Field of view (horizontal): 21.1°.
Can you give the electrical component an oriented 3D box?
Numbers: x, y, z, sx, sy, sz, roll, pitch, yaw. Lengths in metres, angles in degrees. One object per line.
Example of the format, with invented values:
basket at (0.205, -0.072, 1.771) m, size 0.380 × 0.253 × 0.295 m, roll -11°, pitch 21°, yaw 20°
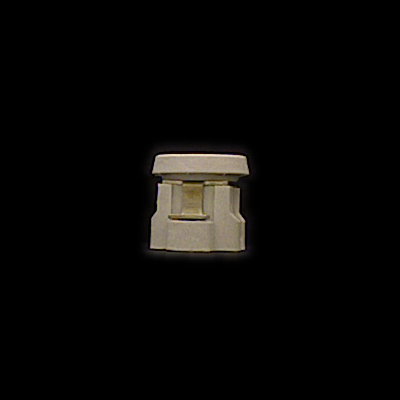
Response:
electrical component at (0.000, 0.000, 0.648) m, size 0.058 × 0.057 × 0.078 m, roll 1°, pitch 0°, yaw 10°
